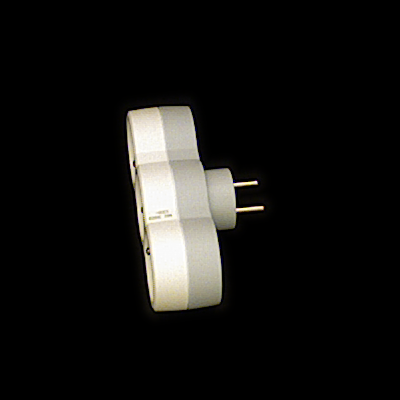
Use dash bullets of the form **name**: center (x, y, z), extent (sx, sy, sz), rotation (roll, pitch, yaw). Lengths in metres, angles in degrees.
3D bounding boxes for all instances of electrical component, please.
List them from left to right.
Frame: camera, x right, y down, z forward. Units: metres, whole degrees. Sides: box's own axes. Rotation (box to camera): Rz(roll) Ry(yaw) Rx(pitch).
- **electrical component**: center (0.000, 0.000, 0.638), extent (0.074, 0.137, 0.052), rotation (-6, -37, -7)
